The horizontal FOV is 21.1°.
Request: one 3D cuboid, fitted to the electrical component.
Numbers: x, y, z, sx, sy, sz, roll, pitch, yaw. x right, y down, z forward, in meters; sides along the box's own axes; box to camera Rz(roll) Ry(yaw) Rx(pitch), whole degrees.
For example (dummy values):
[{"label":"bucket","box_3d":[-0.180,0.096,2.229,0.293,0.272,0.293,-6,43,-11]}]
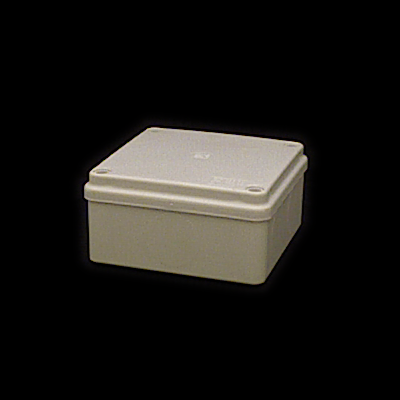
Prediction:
[{"label":"electrical component","box_3d":[0.000,0.000,0.641,0.108,0.057,0.108,7,21,16]}]
